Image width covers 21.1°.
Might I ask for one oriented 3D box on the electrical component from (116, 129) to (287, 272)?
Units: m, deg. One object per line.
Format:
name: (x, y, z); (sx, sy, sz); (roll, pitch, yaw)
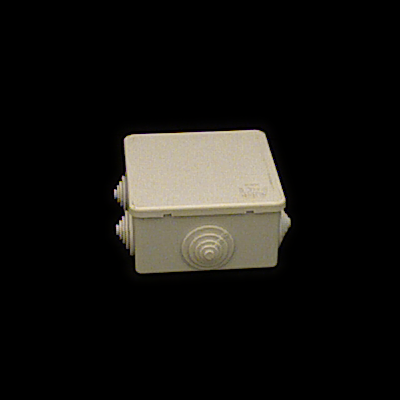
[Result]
electrical component: (0.000, 0.000, 0.644); (0.100, 0.049, 0.098); (-2, 33, -5)
